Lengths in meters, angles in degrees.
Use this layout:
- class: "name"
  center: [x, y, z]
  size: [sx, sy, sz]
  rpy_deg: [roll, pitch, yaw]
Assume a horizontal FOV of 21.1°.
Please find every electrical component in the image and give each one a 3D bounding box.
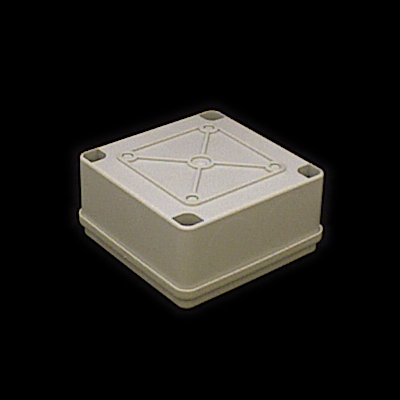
- class: "electrical component"
  center: [0.000, 0.000, 0.636]
  size: [0.108, 0.057, 0.107]
  rpy_deg: [-22, 39, -33]
